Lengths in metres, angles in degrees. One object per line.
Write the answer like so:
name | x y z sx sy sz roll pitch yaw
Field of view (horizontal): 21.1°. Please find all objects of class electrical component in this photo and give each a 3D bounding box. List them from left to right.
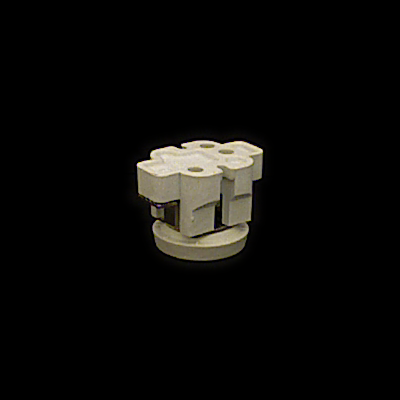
electrical component | 0.000 0.000 0.644 0.079 0.057 0.057 -16 28 -34
